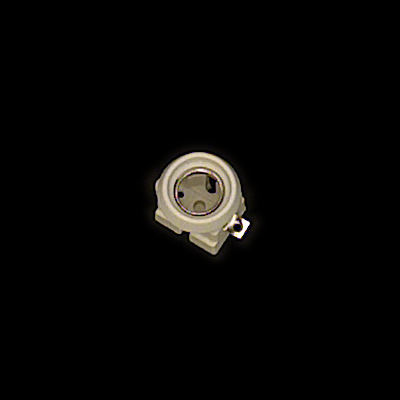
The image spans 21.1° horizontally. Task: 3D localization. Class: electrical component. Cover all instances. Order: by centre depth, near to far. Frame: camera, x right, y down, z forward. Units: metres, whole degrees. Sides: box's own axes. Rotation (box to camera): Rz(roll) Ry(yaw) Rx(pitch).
[{"bbox_3d":[0.000,0.000,0.638,0.066,0.048,0.055,30,-12,8],"label":"electrical component"}]
